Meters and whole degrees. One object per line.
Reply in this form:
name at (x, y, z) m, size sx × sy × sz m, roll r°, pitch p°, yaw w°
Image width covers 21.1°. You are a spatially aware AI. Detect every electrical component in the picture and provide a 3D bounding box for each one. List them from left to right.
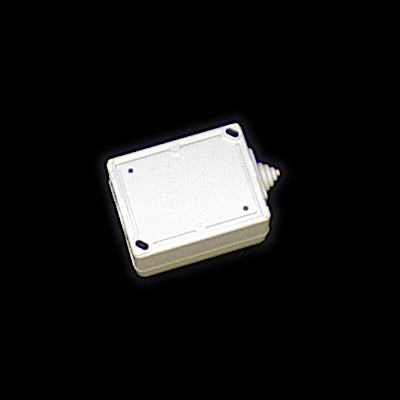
electrical component at (0.000, 0.000, 0.627) m, size 0.096 × 0.062 × 0.061 m, roll -17°, pitch -17°, yaw -5°
